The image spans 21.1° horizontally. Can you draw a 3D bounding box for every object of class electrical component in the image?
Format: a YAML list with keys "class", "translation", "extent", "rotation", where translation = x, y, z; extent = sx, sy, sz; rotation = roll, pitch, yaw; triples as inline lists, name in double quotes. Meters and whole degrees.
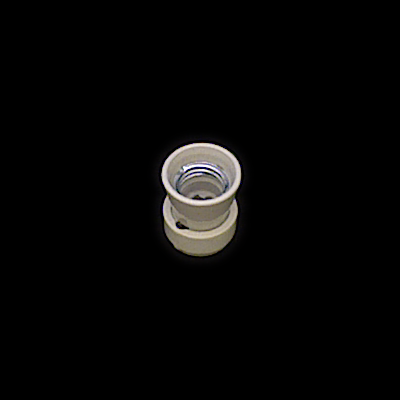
- class: "electrical component"
  translation: [0.000, 0.000, 0.630]
  extent: [0.045, 0.044, 0.055]
  rotation: [0, -37, -1]
